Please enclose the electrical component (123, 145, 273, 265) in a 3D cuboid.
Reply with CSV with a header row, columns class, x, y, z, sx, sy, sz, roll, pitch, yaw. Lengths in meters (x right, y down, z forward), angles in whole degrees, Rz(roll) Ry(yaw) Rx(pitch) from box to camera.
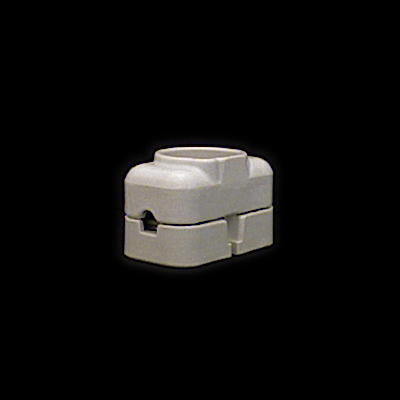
class,x,y,z,sx,sy,sz,roll,pitch,yaw
electrical component,0.000,0.000,0.650,0.053,0.060,0.095,10,15,38
